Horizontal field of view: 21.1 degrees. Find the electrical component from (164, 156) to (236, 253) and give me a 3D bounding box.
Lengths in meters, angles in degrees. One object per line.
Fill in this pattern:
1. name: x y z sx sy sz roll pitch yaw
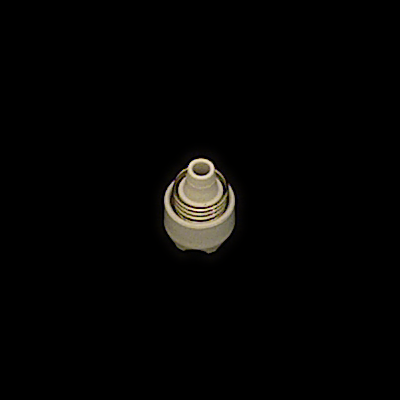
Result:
1. electrical component: 0.000 0.000 0.635 0.043 0.043 0.062 0 -37 -2
